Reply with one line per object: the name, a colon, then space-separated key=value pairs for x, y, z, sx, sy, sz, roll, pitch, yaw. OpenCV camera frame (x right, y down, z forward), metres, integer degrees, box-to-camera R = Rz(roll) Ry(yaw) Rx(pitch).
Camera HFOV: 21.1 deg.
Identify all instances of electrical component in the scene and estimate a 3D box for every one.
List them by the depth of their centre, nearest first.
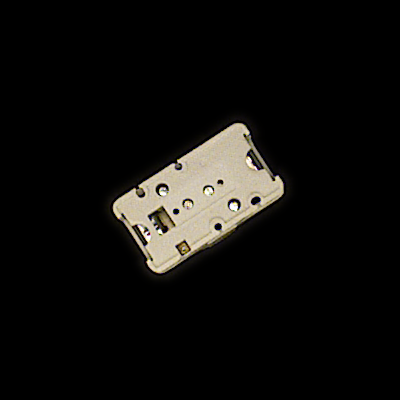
electrical component: x=0.000 y=0.000 z=0.637 sx=0.090 sy=0.050 sz=0.055 roll=-33 pitch=-4 yaw=-3
